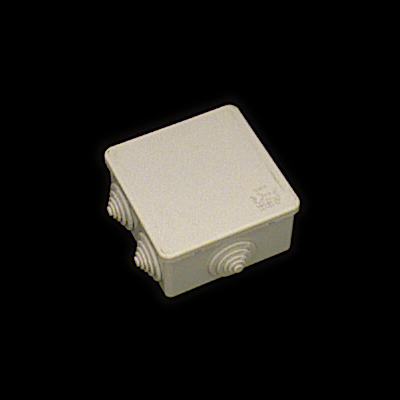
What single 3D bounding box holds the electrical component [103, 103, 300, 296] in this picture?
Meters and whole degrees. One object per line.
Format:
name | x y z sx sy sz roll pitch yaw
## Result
electrical component | 0.000 0.000 0.640 0.100 0.099 0.049 -21 -34 -16
